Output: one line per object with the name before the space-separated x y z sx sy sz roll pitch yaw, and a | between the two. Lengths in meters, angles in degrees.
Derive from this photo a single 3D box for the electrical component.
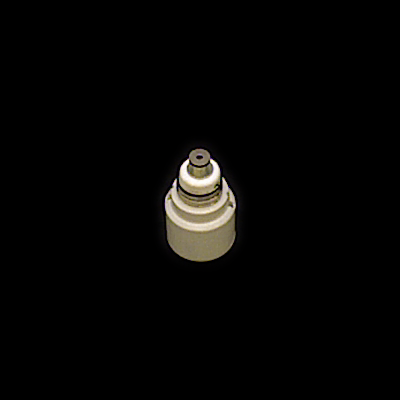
electrical component | 0.000 0.000 0.620 0.040 0.040 0.079 0 -37 1
